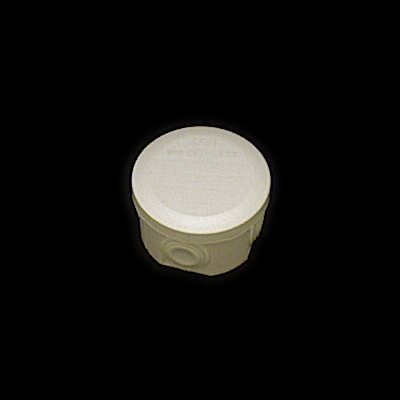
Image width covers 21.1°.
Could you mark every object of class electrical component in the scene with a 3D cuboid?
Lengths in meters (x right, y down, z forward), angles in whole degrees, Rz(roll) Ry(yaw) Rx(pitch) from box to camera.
[{"bbox_3d":[0.000,0.000,0.631,0.080,0.080,0.051,0,-38,-1],"label":"electrical component"}]
